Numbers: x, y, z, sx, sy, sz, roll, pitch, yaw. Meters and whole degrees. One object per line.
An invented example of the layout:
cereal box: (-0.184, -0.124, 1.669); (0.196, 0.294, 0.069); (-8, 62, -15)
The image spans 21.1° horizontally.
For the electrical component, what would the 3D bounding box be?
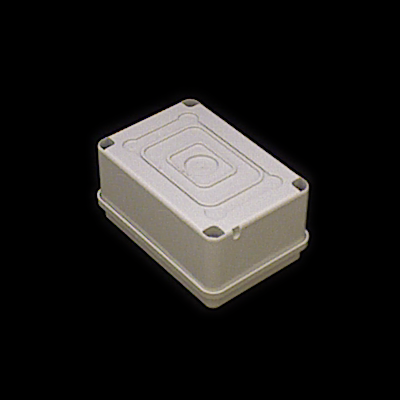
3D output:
electrical component: (0.000, 0.000, 0.632); (0.078, 0.057, 0.112); (-28, 49, -28)
